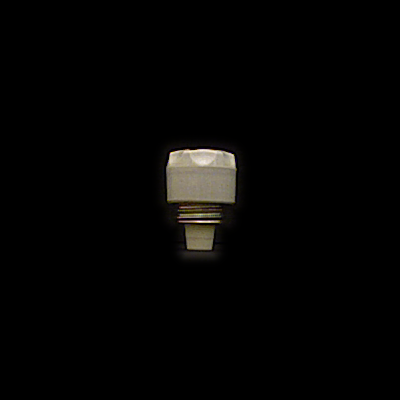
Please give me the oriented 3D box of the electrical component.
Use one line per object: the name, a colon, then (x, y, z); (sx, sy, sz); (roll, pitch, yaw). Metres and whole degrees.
electrical component: (0.000, 0.000, 0.658); (0.043, 0.062, 0.043); (1, 1, 1)
